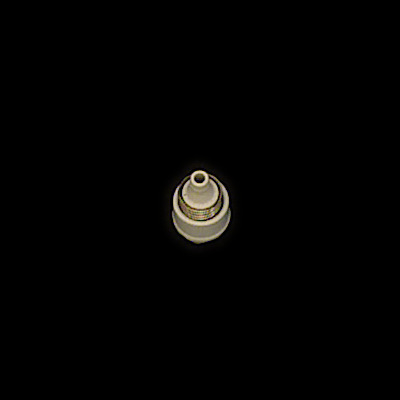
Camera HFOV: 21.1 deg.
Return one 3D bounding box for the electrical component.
[{"bbox_3d":[0.000,0.000,0.638,0.035,0.035,0.061,0,-25,2],"label":"electrical component"}]
